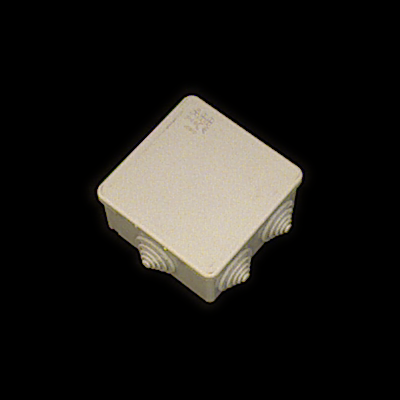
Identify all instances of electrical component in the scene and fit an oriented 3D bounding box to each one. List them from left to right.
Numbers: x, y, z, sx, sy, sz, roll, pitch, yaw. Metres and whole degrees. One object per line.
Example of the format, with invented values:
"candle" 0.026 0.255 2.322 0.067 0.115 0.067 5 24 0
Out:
"electrical component" 0.000 0.000 0.640 0.099 0.100 0.048 36 -21 16
